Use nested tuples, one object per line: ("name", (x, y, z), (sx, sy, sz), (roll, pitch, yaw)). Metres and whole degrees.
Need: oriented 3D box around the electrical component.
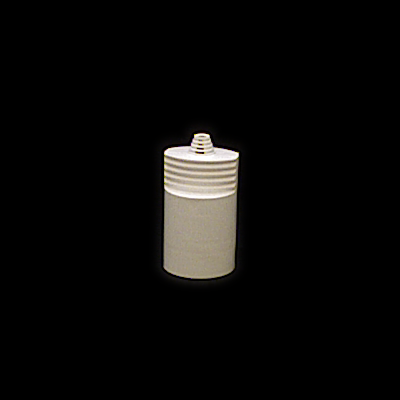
("electrical component", (0.000, 0.000, 0.635), (0.043, 0.082, 0.042), (1, 21, 0))
